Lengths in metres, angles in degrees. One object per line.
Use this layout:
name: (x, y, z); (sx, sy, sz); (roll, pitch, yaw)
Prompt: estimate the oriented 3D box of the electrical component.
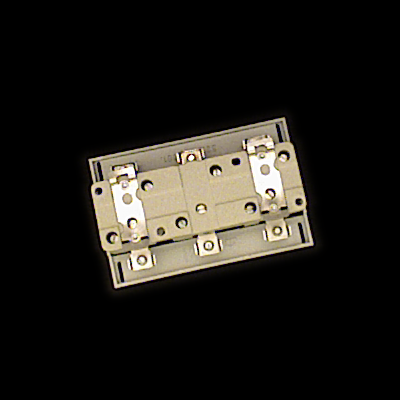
electrical component: (0.000, 0.000, 0.635); (0.121, 0.079, 0.063); (-12, -7, -1)
